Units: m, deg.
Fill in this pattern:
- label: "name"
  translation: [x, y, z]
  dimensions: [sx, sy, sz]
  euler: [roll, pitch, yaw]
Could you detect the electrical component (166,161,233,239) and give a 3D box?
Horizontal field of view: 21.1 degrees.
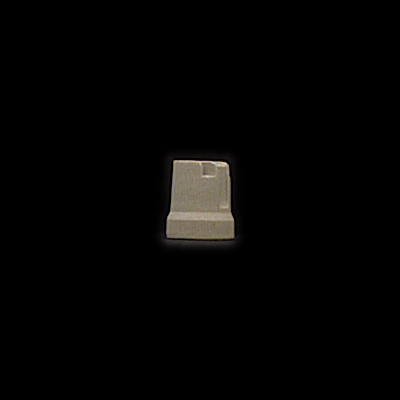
- label: "electrical component"
  translation: [0.000, 0.000, 0.649]
  dimensions: [0.040, 0.046, 0.040]
  euler: [1, 1, 0]
